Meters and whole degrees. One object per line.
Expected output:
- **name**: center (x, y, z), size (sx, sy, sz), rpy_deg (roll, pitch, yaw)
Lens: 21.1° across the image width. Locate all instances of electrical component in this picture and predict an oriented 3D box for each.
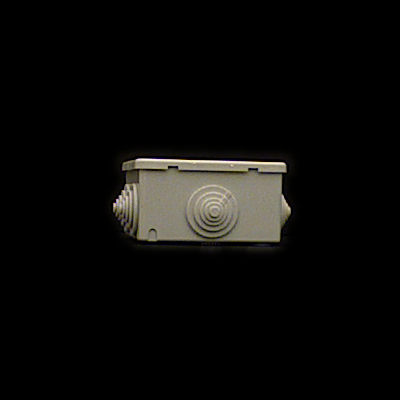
- **electrical component**: center (0.000, 0.000, 0.656), size (0.100, 0.048, 0.099), rpy_deg (1, 1, -10)
